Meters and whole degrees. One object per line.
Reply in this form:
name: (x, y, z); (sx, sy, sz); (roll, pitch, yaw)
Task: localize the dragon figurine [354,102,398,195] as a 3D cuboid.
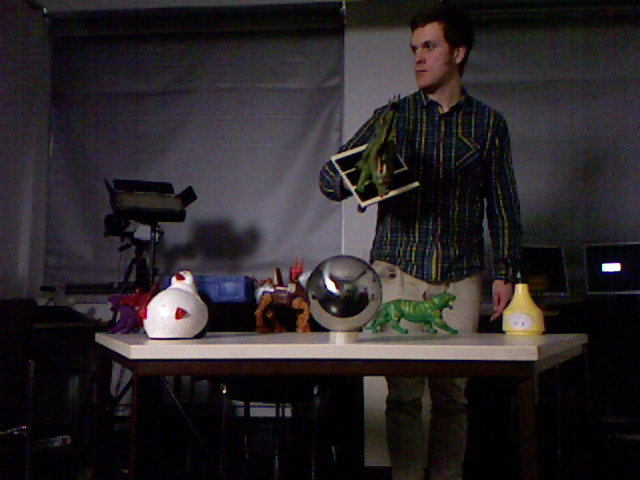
dragon figurine: (0.190, -0.293, 1.487); (0.122, 0.419, 0.238); (11, -29, -4)
